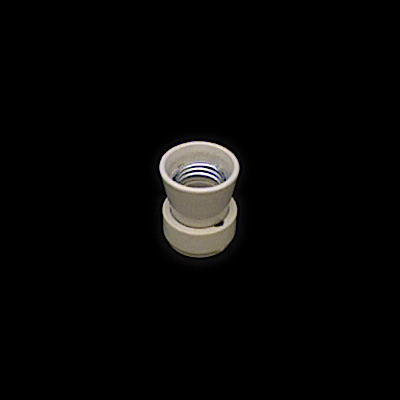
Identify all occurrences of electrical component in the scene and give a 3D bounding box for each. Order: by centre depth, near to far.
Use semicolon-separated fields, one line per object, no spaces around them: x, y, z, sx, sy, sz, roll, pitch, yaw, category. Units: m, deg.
0.000;0.000;0.630;0.045;0.055;0.044;0;42;0;electrical component
